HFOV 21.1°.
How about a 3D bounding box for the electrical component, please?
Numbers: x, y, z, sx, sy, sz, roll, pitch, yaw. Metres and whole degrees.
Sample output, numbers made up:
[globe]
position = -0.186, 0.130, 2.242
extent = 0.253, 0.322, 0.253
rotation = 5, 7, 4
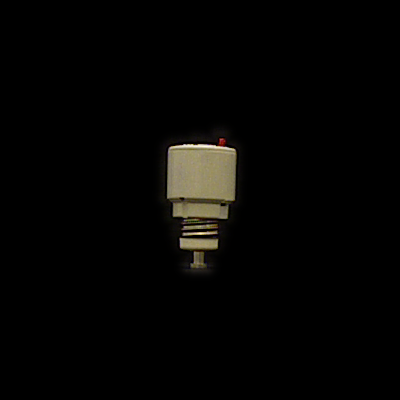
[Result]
[electrical component]
position = 0.000, 0.000, 0.648
extent = 0.040, 0.078, 0.040
rotation = 2, 1, 0
